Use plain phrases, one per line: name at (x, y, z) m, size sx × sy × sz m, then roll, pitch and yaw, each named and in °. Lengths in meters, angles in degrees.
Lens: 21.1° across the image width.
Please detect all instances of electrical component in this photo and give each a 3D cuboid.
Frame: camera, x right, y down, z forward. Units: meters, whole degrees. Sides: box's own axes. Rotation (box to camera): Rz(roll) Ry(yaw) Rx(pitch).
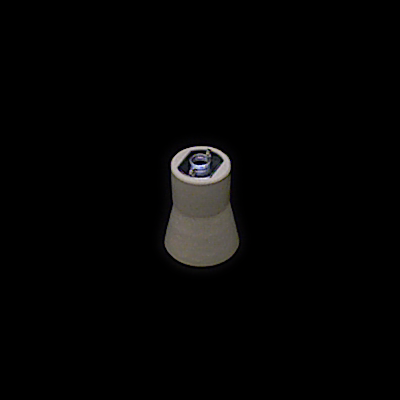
electrical component at (0.000, 0.000, 0.630) m, size 0.044 × 0.066 × 0.044 m, roll 0°, pitch 41°, yaw 1°
